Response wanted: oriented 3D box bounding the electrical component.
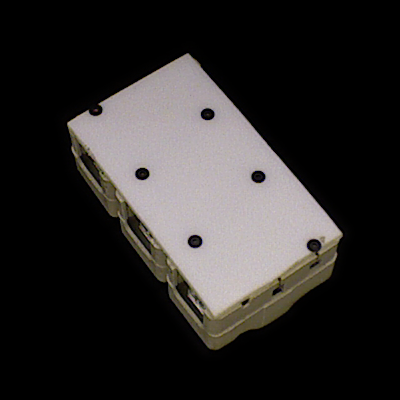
[{"bbox_3d":[0.000,0.000,0.631,0.089,0.149,0.062,-31,-23,-15],"label":"electrical component"}]
